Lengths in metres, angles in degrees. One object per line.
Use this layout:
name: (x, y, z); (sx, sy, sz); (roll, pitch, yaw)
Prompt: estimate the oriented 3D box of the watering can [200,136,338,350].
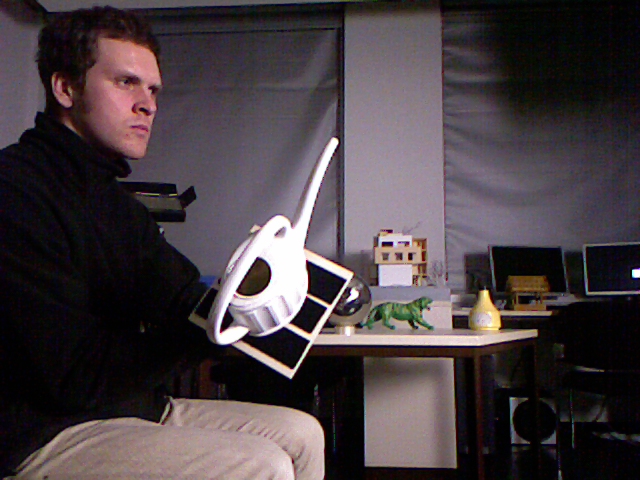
watering can: (-0.057, 0.022, 0.790); (0.105, 0.353, 0.221); (29, -16, 17)
